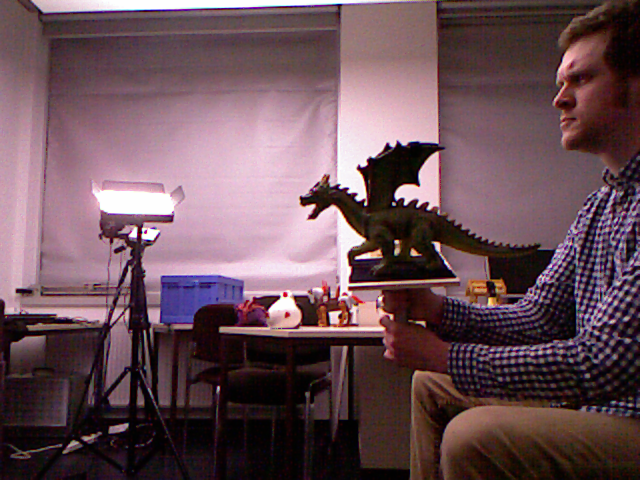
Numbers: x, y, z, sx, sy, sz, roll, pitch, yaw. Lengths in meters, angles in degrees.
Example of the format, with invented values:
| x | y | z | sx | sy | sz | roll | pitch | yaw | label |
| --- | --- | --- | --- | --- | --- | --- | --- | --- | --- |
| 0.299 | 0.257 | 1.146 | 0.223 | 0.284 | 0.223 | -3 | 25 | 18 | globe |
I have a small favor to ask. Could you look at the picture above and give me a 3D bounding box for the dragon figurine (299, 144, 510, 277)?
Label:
| x | y | z | sx | sy | sz | roll | pitch | yaw | label |
| --- | --- | --- | --- | --- | --- | --- | --- | --- | --- |
| 0.165 | -0.064 | 1.001 | 0.411 | 0.240 | 0.124 | -5 | 18 | -2 | dragon figurine |
